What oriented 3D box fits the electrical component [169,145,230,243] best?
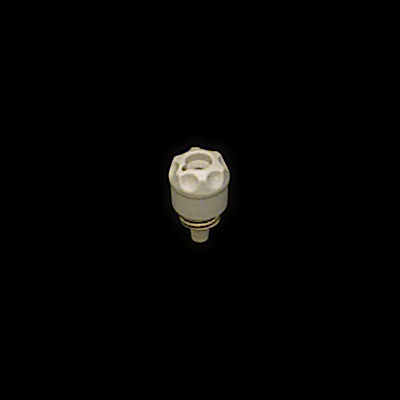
[{"bbox_3d":[0.000,0.000,0.637,0.035,0.062,0.035,0,43,0],"label":"electrical component"}]
